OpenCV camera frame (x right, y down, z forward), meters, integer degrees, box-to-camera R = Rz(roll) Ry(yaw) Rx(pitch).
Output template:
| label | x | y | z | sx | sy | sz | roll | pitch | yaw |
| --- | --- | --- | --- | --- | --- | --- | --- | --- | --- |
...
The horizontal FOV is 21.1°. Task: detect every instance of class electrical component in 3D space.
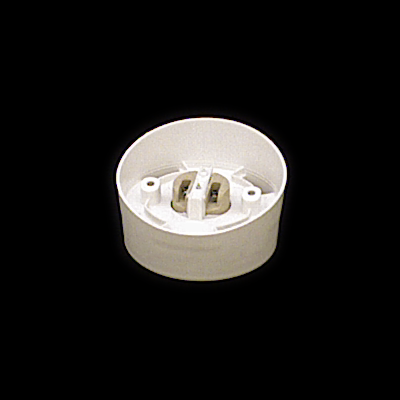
| label | x | y | z | sx | sy | sz | roll | pitch | yaw |
| --- | --- | --- | --- | --- | --- | --- | --- | --- | --- |
| electrical component | 0.000 | 0.000 | 0.633 | 0.099 | 0.065 | 0.097 | 1 | 30 | 0 |
